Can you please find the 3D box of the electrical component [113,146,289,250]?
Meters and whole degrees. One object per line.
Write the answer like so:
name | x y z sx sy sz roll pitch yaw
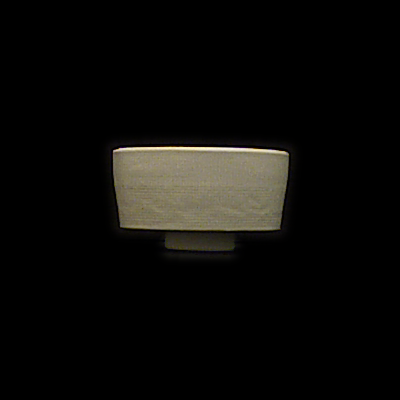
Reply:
electrical component | 0.000 0.000 0.659 0.108 0.060 0.108 1 1 0
